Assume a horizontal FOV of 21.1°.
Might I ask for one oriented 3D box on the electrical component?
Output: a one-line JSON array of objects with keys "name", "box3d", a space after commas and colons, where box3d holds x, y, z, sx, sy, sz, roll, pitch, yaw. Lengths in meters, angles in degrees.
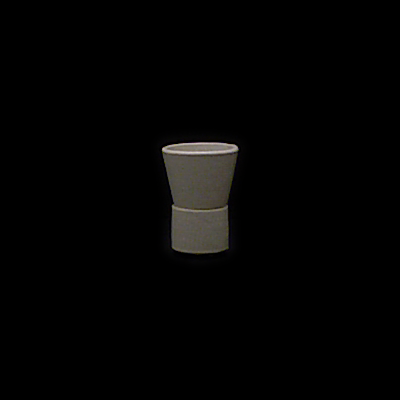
[{"name": "electrical component", "box3d": [0.000, 0.000, 0.642, 0.044, 0.066, 0.044, 1, 12, 0]}]
